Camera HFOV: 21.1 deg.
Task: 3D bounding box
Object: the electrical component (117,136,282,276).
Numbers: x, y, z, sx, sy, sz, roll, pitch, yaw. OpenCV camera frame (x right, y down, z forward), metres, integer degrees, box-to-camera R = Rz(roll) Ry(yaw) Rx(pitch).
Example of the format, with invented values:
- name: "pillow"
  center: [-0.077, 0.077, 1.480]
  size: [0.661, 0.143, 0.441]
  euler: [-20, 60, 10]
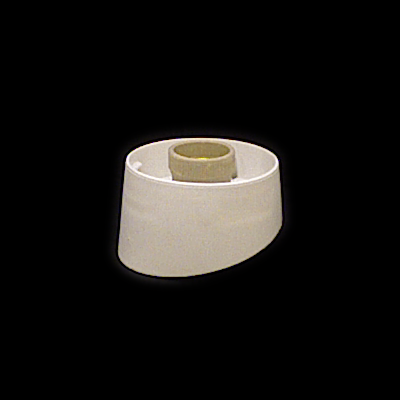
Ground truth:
- name: "electrical component"
  center: [0.000, 0.000, 0.639]
  size: [0.099, 0.065, 0.097]
  euler: [1, 21, 0]
